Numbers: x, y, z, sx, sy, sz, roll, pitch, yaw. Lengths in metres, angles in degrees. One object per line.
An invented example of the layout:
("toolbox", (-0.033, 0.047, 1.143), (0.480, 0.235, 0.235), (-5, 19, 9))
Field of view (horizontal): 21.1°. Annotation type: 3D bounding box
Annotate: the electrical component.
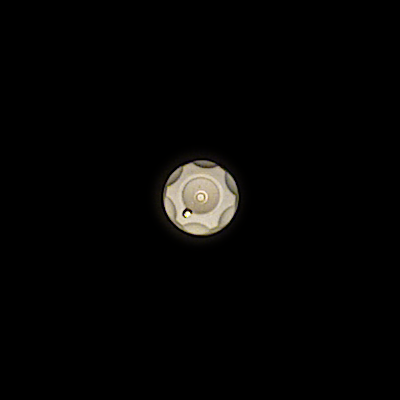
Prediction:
("electrical component", (0.000, 0.000, 0.635), (0.043, 0.043, 0.062), (0, -6, 1))
